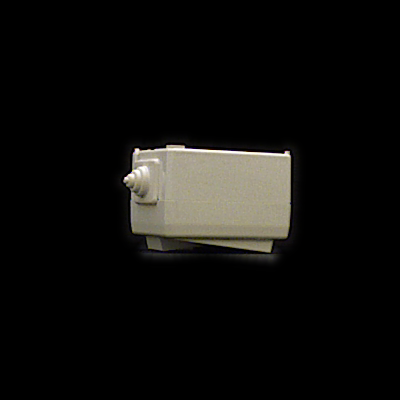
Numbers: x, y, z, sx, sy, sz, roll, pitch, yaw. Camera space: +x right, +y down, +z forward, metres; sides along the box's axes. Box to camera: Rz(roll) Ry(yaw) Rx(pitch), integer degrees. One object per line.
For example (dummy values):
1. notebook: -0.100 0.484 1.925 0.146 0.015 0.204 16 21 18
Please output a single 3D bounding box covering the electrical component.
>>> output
1. electrical component: 0.000 0.000 0.644 0.097 0.061 0.061 2 1 -25
